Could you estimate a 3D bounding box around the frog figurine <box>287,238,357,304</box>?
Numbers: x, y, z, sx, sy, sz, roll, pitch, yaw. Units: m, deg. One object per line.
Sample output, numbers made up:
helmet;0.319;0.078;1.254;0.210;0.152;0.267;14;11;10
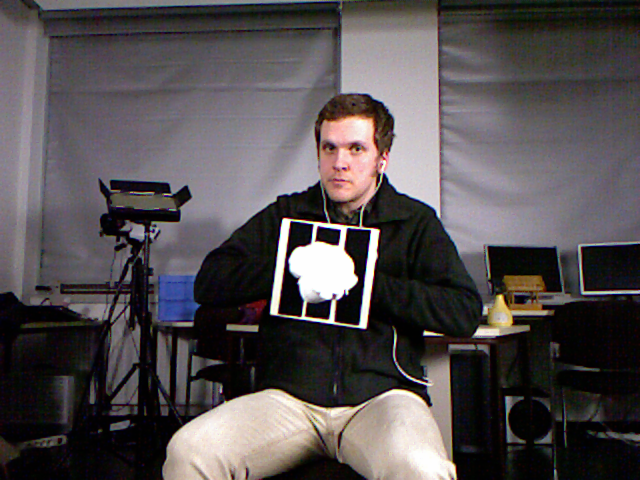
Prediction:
frog figurine;-0.001;0.058;0.983;0.138;0.123;0.160;30;2;7
